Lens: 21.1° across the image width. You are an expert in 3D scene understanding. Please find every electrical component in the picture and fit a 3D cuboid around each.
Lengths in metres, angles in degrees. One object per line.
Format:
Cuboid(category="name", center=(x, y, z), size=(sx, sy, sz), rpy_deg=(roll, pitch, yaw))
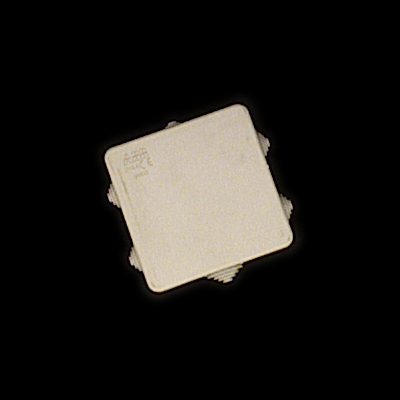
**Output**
Cuboid(category="electrical component", center=(0.000, 0.000, 0.642), size=(0.100, 0.100, 0.048), rpy_deg=(-19, -6, -2))
